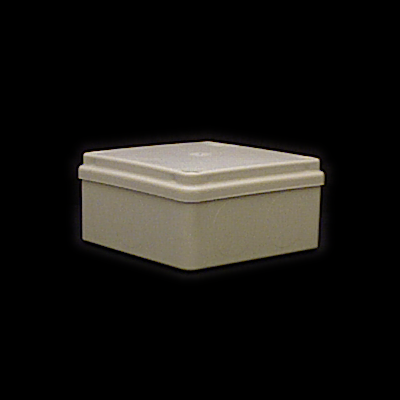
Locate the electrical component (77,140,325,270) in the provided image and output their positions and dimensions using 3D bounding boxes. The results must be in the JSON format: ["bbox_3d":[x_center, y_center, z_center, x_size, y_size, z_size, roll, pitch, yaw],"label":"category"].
[{"bbox_3d":[0.000,0.000,0.643,0.109,0.056,0.108,-8,14,-40],"label":"electrical component"}]
